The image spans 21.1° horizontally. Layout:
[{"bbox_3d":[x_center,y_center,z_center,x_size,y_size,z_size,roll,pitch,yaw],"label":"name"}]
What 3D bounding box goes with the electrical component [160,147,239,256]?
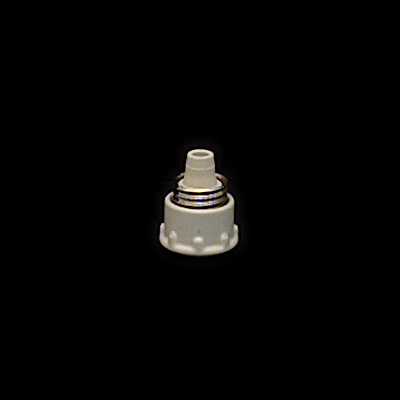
[{"bbox_3d":[0.000,0.000,0.644,0.048,0.063,0.047,1,23,0],"label":"electrical component"}]
